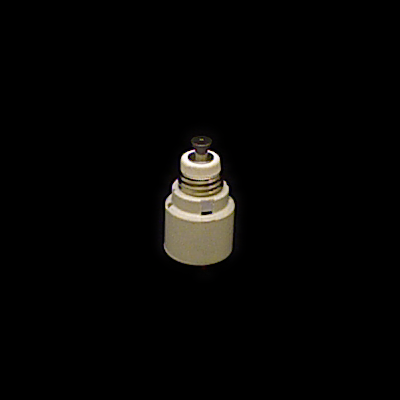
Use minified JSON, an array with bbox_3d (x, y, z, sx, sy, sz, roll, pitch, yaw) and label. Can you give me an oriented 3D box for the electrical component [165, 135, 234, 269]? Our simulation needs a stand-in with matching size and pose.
[{"bbox_3d":[0.000,0.000,0.629,0.040,0.079,0.039,2,31,-1],"label":"electrical component"}]
